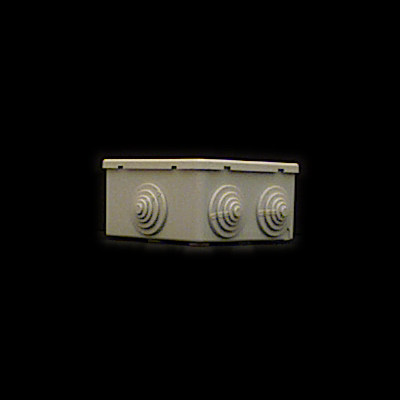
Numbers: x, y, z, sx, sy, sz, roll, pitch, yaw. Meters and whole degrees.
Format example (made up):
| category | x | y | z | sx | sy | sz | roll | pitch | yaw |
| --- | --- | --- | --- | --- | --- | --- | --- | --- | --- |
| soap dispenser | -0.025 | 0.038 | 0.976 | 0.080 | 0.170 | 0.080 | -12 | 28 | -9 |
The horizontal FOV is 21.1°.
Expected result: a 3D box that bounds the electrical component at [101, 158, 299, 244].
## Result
| category | x | y | z | sx | sy | sz | roll | pitch | yaw |
| --- | --- | --- | --- | --- | --- | --- | --- | --- | --- |
| electrical component | 0.000 | 0.000 | 0.655 | 0.098 | 0.048 | 0.100 | 2 | 1 | 45 |
